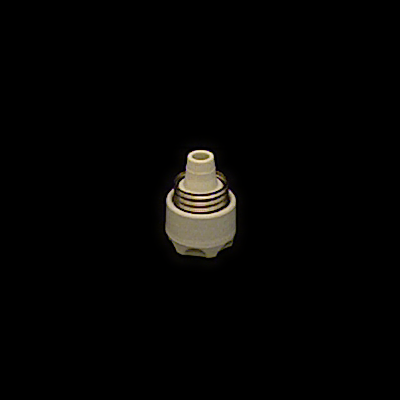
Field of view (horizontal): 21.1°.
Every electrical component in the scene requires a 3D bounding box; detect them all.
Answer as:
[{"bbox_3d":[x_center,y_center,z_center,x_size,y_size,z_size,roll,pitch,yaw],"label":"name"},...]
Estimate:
[{"bbox_3d":[0.000,0.000,0.642,0.043,0.063,0.043,1,31,0],"label":"electrical component"}]
